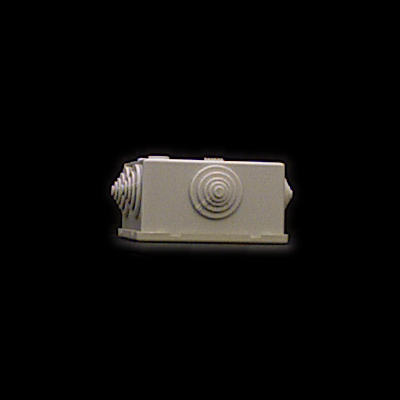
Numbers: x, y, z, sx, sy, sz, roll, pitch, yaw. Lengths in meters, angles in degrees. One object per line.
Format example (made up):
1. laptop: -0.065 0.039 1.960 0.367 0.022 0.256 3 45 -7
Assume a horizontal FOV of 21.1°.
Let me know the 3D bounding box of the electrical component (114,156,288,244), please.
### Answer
1. electrical component: 0.000 0.000 0.650 0.100 0.048 0.099 1 0 -12
